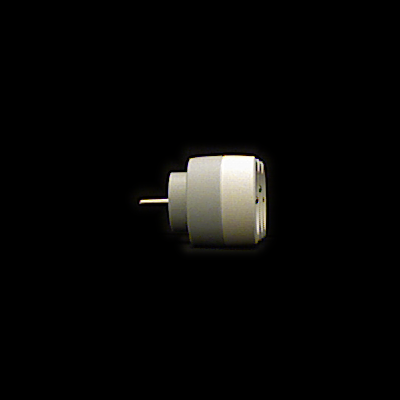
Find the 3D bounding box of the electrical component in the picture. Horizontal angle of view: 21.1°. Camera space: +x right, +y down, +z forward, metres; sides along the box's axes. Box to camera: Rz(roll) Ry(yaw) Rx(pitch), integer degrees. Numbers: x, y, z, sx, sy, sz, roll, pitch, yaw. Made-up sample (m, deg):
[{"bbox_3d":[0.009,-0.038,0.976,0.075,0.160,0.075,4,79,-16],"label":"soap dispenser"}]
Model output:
[{"bbox_3d":[0.000,0.000,0.658,0.073,0.052,0.138,0,1,6],"label":"electrical component"}]
